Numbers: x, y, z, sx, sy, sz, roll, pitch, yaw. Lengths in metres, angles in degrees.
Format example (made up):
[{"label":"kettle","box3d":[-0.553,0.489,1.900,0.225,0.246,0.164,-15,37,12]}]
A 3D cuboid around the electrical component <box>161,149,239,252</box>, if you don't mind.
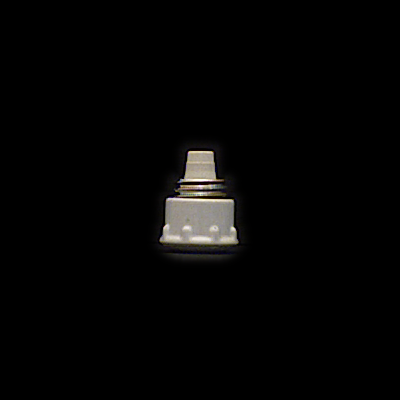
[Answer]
[{"label":"electrical component","box3d":[0.000,0.000,0.654,0.048,0.062,0.048,1,3,0]}]
